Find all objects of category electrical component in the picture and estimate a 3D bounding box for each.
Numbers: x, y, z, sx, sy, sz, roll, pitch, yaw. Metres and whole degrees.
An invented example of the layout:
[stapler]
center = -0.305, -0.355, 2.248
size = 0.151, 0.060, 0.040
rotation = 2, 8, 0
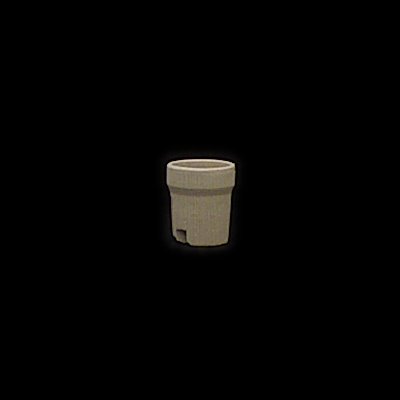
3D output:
[electrical component]
center = 0.000, 0.000, 0.644
size = 0.040, 0.046, 0.040
rotation = 1, 11, 0
